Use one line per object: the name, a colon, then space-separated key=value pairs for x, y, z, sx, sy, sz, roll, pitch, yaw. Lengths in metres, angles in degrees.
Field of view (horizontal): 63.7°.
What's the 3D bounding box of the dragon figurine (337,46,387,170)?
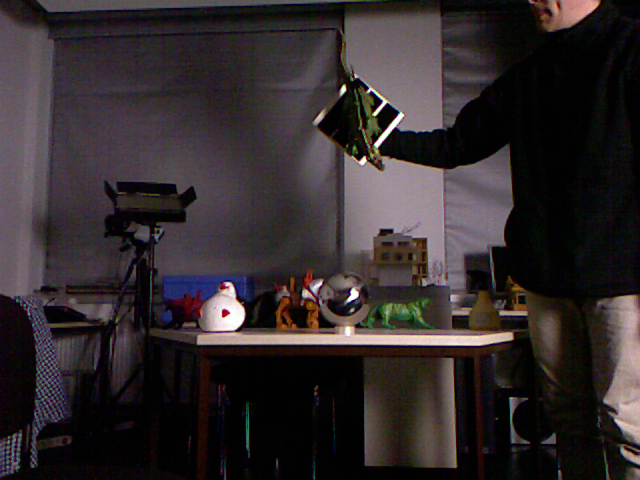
dragon figurine: x=0.108 y=-0.390 z=1.475 sx=0.122 sy=0.411 sz=0.243 roll=-18 pitch=0 yaw=1
